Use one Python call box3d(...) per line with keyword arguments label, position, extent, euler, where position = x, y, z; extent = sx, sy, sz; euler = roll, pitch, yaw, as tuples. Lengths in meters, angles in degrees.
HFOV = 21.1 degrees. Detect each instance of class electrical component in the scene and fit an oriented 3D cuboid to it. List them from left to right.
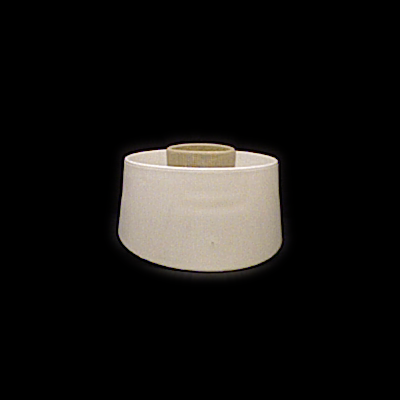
box3d(label="electrical component", position=(0.000, 0.000, 0.644), extent=(0.099, 0.064, 0.098), euler=(1, 11, 0))
